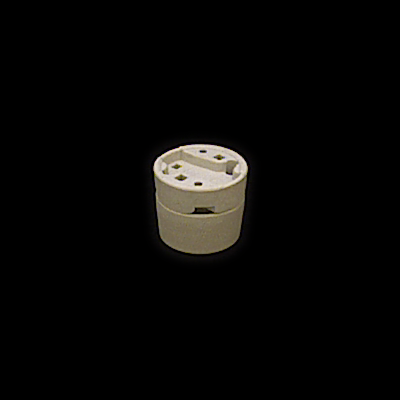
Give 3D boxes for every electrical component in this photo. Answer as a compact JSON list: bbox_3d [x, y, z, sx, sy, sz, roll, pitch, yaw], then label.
[{"bbox_3d":[0.000,0.000,0.638,0.055,0.047,0.055,1,31,0],"label":"electrical component"}]
